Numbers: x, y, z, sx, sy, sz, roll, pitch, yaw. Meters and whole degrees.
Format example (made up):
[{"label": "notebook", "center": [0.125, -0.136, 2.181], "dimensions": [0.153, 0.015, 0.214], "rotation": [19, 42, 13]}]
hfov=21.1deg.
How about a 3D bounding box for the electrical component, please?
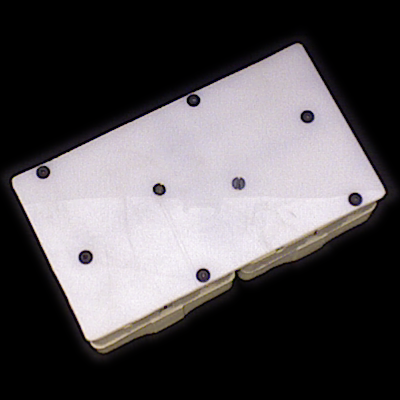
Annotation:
[{"label": "electrical component", "center": [0.000, 0.000, 0.625], "dimensions": [0.187, 0.106, 0.060], "rotation": [-26, -15, -8]}]
